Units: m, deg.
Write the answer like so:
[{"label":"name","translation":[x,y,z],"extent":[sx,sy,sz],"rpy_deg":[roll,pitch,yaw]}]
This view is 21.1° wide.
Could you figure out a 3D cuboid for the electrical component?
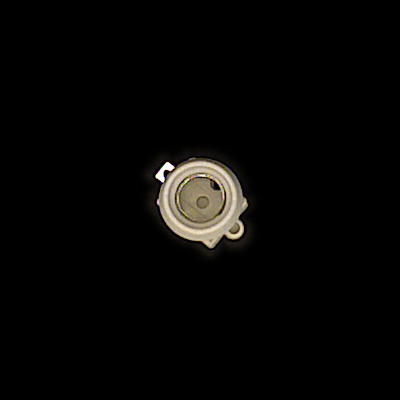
[{"label":"electrical component","translation":[0.000,0.000,0.639],"extent":[0.066,0.048,0.055],"rpy_deg":[38,-6,4]}]
